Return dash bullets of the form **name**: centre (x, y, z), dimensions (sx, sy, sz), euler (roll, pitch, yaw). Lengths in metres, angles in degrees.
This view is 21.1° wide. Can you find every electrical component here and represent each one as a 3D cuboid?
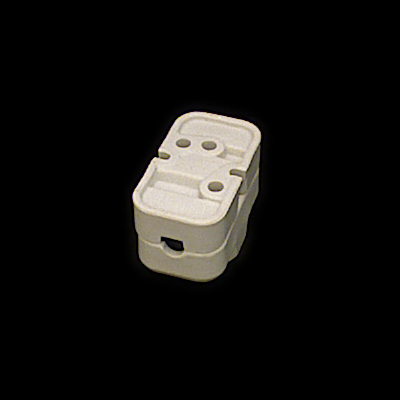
- **electrical component**: centre (0.000, 0.000, 0.637), dimensions (0.053, 0.060, 0.095), euler (13, 44, 13)
